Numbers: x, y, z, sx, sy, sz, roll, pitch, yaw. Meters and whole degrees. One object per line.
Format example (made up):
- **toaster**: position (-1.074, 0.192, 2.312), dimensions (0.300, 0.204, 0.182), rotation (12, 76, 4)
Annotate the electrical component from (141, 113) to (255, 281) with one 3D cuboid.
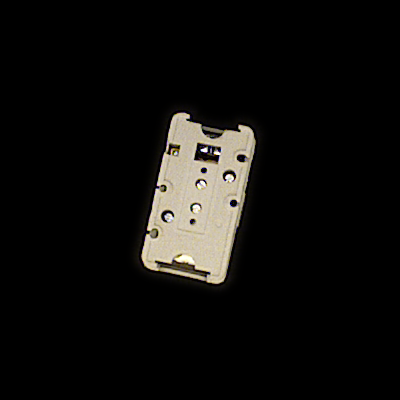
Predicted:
- **electrical component**: position (0.000, 0.000, 0.637), dimensions (0.050, 0.090, 0.055), rotation (12, -6, 2)
